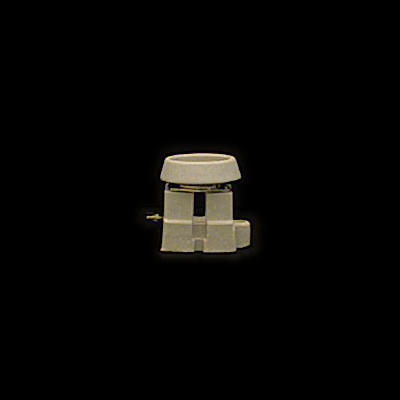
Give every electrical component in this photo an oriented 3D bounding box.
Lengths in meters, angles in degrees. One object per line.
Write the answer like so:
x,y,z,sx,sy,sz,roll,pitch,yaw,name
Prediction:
0.000,0.000,0.650,0.066,0.056,0.048,1,10,-3,electrical component
